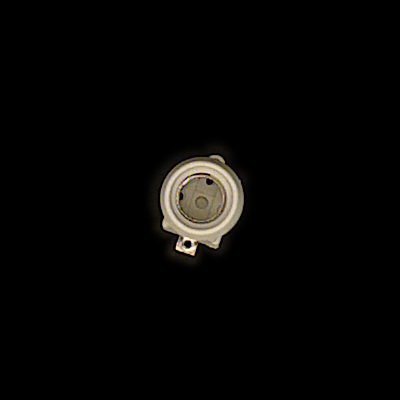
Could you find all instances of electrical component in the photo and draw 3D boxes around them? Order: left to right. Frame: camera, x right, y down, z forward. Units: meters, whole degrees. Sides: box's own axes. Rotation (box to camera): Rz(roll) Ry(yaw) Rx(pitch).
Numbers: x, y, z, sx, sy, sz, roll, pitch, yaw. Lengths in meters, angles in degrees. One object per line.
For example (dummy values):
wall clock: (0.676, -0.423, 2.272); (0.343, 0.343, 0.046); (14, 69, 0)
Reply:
electrical component: (0.000, 0.000, 0.639); (0.048, 0.066, 0.055); (18, -5, 5)
